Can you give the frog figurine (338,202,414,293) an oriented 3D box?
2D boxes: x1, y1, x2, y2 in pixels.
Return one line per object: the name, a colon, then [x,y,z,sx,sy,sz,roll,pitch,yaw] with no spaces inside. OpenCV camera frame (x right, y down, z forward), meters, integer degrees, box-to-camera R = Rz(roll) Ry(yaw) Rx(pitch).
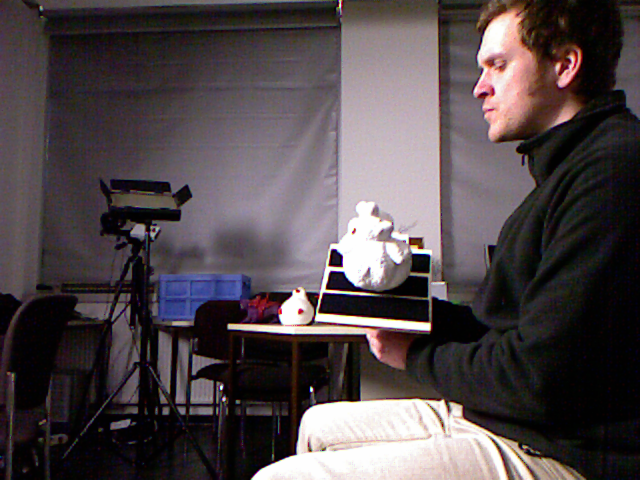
frog figurine: [0.102,0.015,0.928,0.138,0.156,0.126,19,50,20]
